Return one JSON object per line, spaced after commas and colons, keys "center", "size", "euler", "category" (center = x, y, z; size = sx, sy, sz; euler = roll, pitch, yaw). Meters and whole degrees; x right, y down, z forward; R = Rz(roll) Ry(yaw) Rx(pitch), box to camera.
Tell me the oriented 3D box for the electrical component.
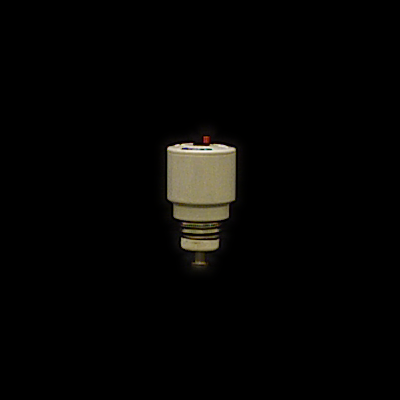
{"center": [0.000, 0.000, 0.644], "size": [0.040, 0.079, 0.040], "euler": [1, 11, 0], "category": "electrical component"}
